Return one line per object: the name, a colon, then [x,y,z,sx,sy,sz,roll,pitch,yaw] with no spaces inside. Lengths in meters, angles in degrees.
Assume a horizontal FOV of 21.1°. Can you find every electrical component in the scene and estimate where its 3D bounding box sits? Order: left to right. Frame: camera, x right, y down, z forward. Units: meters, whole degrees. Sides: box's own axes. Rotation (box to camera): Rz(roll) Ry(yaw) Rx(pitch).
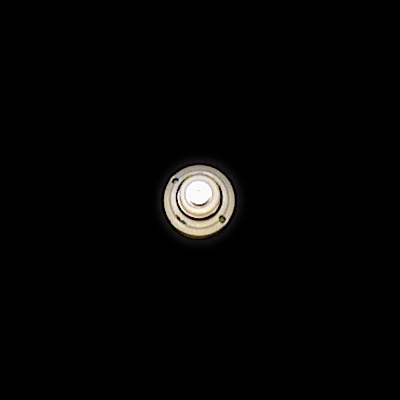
electrical component: [0.000,0.000,0.618,0.040,0.040,0.078,0,-6,-1]
